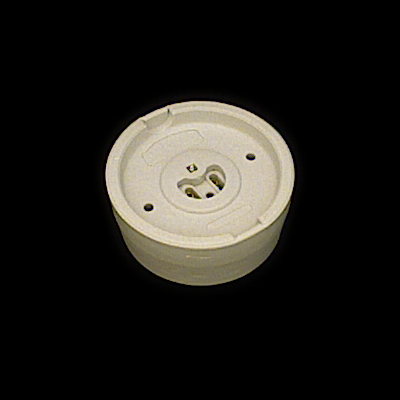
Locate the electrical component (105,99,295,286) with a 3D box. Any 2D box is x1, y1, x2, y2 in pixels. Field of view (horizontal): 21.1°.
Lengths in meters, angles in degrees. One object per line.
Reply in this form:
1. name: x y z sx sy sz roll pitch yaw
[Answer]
1. electrical component: 0.000 0.000 0.636 0.108 0.107 0.060 0 -37 -1
